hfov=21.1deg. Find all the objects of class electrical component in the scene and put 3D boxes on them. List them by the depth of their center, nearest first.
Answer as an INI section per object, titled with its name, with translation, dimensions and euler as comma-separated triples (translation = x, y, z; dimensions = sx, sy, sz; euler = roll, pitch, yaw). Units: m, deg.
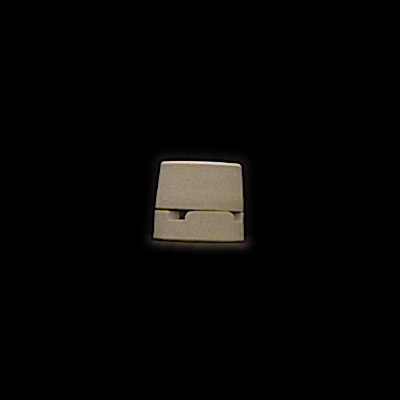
[electrical component]
translation = 0.000, 0.000, 0.651
dimensions = 0.055, 0.047, 0.055
euler = 2, 1, 0
